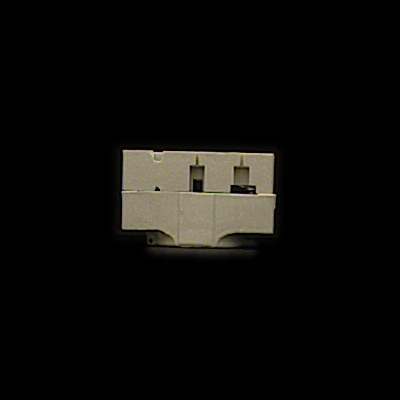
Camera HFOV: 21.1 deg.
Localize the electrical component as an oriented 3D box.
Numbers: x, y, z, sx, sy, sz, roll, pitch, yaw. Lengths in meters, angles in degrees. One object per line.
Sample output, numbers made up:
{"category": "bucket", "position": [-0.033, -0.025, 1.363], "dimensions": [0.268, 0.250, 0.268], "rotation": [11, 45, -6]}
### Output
{"category": "electrical component", "position": [0.000, 0.000, 0.655], "dimensions": [0.089, 0.056, 0.050], "rotation": [1, 2, 4]}
